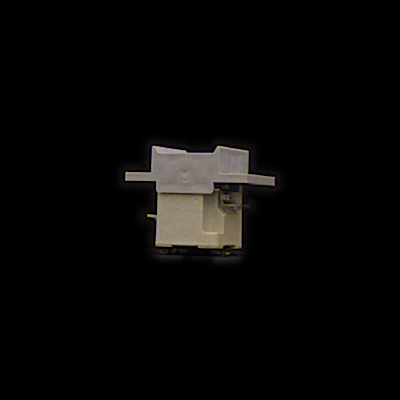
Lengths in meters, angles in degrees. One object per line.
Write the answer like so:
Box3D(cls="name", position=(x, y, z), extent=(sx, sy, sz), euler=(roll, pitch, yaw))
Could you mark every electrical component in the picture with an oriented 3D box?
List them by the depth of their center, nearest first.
Box3D(cls="electrical component", position=(0.000, 0.000, 0.650), extent=(0.080, 0.064, 0.042), euler=(2, 2, 26))
